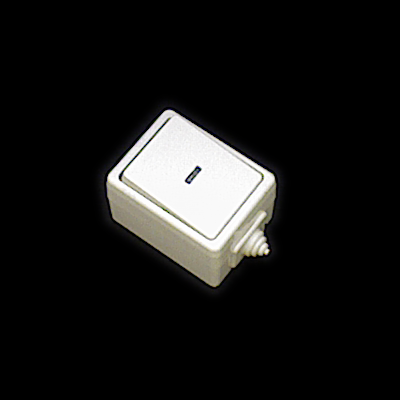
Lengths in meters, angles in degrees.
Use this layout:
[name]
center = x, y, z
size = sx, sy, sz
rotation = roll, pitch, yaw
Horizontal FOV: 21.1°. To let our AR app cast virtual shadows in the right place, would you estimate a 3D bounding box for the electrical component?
[electrical component]
center = 0.000, 0.000, 0.625
size = 0.096, 0.062, 0.060
rotation = 33, -22, 16
